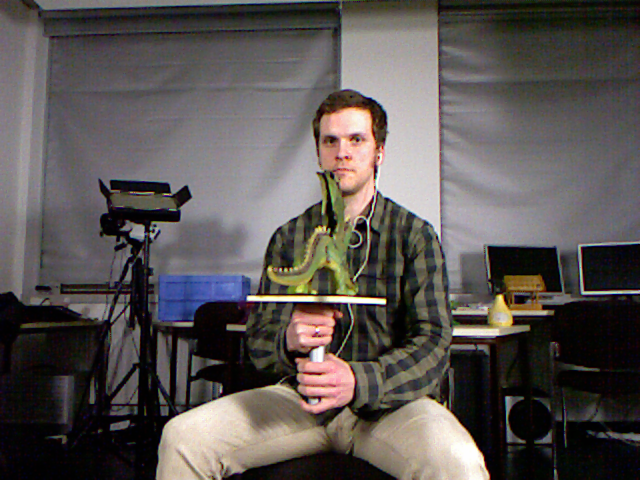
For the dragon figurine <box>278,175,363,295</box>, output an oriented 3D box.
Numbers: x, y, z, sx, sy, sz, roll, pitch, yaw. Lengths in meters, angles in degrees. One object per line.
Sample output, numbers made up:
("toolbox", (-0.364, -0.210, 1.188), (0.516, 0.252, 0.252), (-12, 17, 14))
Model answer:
("dragon figurine", (0.009, -0.011, 1.009), (0.122, 0.245, 0.407), (0, -9, 15))
